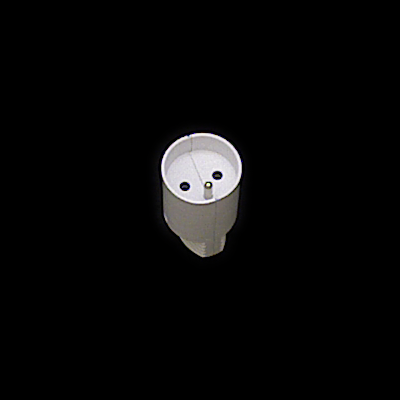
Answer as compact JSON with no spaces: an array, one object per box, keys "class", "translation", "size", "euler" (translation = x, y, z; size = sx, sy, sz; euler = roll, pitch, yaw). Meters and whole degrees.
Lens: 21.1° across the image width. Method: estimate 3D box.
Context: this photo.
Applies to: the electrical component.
[{"class":"electrical component","translation":[0.000,0.000,0.616],"size":[0.043,0.043,0.081],"euler":[0,-26,0]}]
